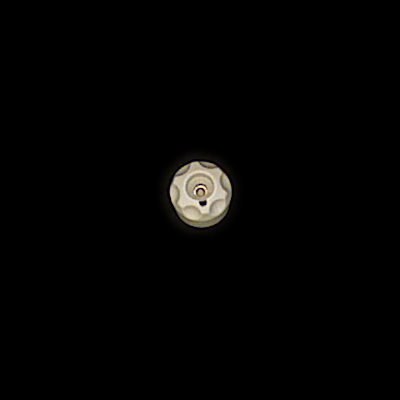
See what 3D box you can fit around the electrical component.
[{"bbox_3d":[0.000,0.000,0.633,0.035,0.035,0.061,0,-16,1],"label":"electrical component"}]
